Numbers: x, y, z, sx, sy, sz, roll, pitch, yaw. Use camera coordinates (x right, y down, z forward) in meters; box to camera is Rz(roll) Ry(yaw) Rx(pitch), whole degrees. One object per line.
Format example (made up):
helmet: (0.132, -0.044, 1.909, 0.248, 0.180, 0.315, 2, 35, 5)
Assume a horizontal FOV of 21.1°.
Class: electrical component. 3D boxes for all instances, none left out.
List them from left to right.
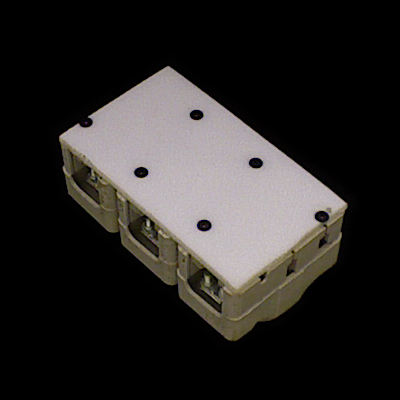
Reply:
electrical component: (0.000, 0.000, 0.633, 0.089, 0.062, 0.148, -36, 60, -25)
